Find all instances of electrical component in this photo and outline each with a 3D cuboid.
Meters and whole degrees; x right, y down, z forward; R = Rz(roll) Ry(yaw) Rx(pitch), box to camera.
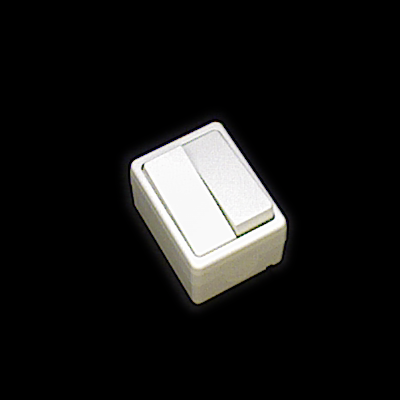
[{"bbox_3d":[0.000,0.000,0.628,0.062,0.096,0.061,-26,-24,-13],"label":"electrical component"}]
